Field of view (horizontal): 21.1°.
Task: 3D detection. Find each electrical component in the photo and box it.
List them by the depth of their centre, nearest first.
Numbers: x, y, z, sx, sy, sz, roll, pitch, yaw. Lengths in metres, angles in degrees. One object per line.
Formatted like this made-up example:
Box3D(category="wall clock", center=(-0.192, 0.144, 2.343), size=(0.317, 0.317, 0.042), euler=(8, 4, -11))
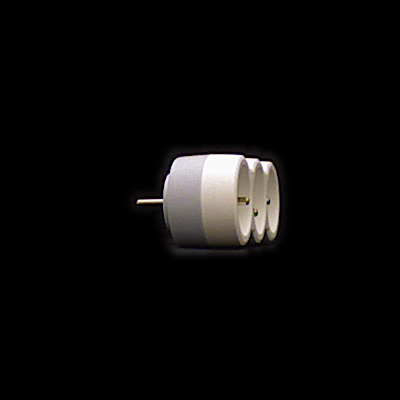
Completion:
Box3D(category="electrical component", center=(-0.001, 0.000, 0.647), size=(0.073, 0.052, 0.138), euler=(-1, 0, 14))
